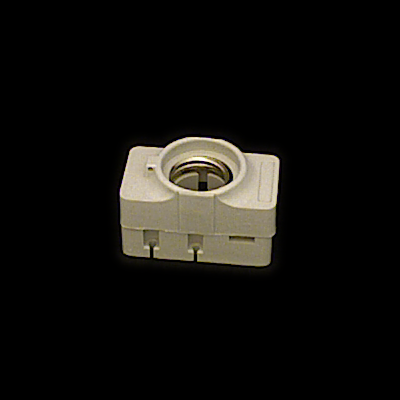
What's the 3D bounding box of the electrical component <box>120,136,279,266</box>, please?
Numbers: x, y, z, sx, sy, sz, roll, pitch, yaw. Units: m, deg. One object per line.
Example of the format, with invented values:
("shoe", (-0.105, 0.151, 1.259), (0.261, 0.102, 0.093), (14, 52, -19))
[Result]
("electrical component", (0.000, 0.000, 0.640), (0.089, 0.056, 0.050), (4, 43, 3))
